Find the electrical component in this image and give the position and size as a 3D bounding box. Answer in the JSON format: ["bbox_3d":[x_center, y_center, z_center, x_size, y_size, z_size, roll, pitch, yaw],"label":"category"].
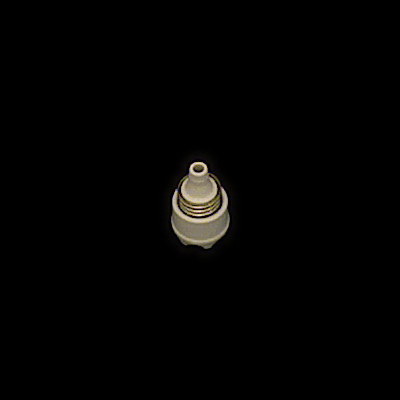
[{"bbox_3d":[0.000,0.000,0.638,0.035,0.035,0.062,0,-38,2],"label":"electrical component"}]
